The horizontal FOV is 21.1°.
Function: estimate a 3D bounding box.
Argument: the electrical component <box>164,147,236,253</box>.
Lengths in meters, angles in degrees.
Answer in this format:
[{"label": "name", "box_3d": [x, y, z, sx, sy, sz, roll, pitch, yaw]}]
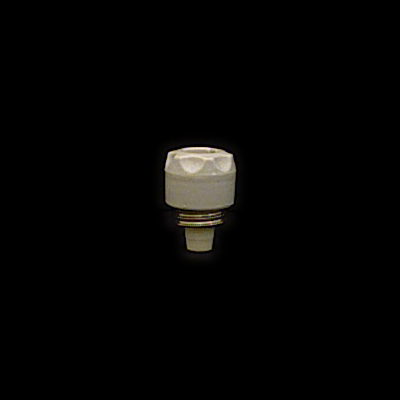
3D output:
[{"label": "electrical component", "box_3d": [0.000, 0.000, 0.650, 0.043, 0.062, 0.043, 1, 13, 0]}]
